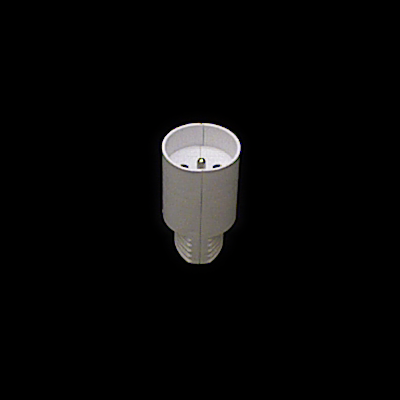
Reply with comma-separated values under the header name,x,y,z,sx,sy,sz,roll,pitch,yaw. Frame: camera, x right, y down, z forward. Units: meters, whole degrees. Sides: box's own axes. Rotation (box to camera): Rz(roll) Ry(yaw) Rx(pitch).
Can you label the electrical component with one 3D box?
name,x,y,z,sx,sy,sz,roll,pitch,yaw
electrical component,0.000,0.000,0.622,0.043,0.082,0.042,0,42,0
